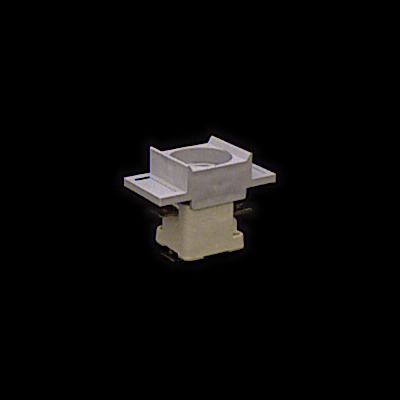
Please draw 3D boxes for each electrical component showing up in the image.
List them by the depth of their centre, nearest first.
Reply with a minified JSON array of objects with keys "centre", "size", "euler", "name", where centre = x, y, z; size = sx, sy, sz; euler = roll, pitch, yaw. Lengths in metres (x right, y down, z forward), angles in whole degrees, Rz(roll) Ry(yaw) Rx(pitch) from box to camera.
[{"centre":[0.000,0.000,0.640],"size":[0.080,0.064,0.042],"euler":[-12,24,-30],"name":"electrical component"}]
